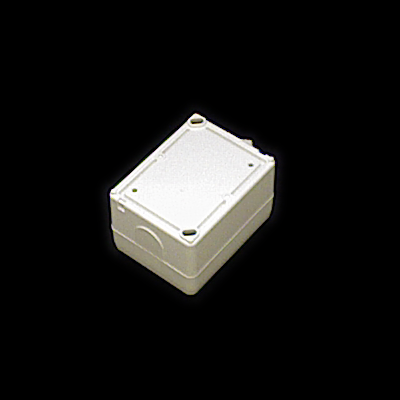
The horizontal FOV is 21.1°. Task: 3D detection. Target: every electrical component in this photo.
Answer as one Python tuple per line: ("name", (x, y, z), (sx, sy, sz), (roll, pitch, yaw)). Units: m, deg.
("electrical component", (0.000, 0.000, 0.632), (0.061, 0.061, 0.096), (31, 58, 23))
